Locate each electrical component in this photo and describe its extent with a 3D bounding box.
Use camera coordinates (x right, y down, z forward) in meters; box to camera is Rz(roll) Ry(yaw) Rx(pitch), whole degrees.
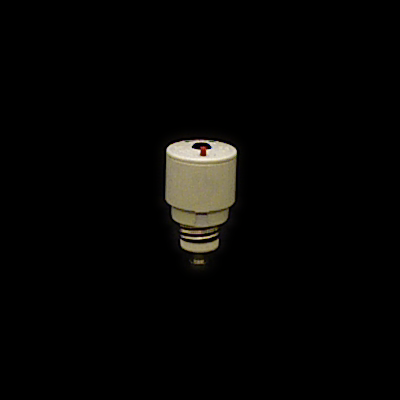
[{"bbox_3d":[0.000,0.000,0.633,0.040,0.079,0.039,1,22,0],"label":"electrical component"}]
